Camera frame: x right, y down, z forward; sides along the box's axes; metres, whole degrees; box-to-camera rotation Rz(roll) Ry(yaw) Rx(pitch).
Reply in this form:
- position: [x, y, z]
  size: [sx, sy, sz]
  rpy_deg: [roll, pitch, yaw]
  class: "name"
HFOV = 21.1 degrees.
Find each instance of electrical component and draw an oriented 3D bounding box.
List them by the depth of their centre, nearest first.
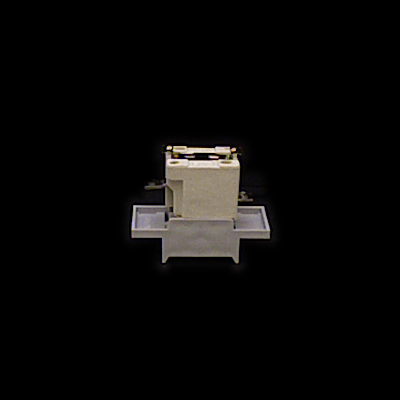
- position: [0.000, 0.000, 0.639]
  size: [0.081, 0.064, 0.041]
  rpy_deg: [0, 21, -3]
  class: "electrical component"
